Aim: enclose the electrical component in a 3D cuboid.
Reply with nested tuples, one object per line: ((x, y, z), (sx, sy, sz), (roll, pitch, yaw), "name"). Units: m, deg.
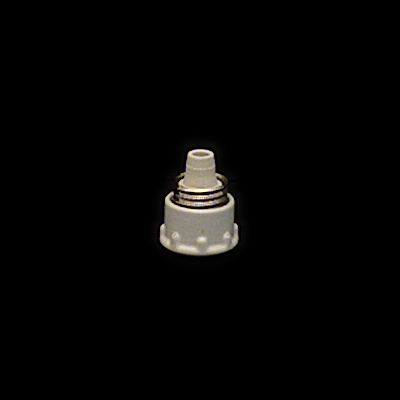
((0.000, 0.000, 0.644), (0.048, 0.063, 0.047), (1, 23, 0), "electrical component")
